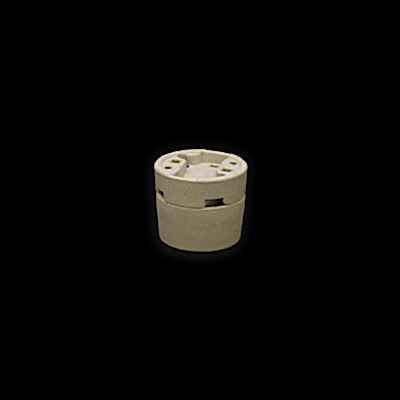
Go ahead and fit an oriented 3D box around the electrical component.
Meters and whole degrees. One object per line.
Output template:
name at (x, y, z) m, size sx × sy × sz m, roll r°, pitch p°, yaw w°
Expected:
electrical component at (0.000, 0.000, 0.640) m, size 0.055 × 0.047 × 0.055 m, roll 1°, pitch 21°, yaw 0°
